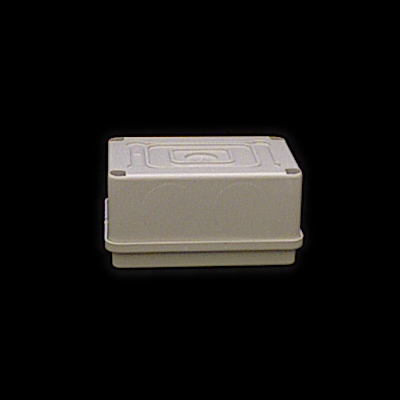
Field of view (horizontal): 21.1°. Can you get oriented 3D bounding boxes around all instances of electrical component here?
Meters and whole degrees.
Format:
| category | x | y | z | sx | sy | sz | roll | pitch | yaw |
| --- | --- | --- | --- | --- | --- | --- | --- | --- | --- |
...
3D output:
| category | x | y | z | sx | sy | sz | roll | pitch | yaw |
| --- | --- | --- | --- | --- | --- | --- | --- | --- | --- |
| electrical component | 0.000 | 0.000 | 0.639 | 0.113 | 0.058 | 0.077 | -1 | 21 | -5 |
